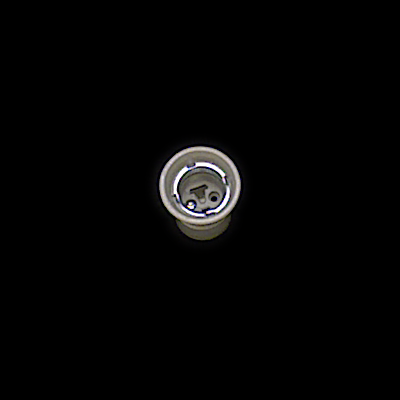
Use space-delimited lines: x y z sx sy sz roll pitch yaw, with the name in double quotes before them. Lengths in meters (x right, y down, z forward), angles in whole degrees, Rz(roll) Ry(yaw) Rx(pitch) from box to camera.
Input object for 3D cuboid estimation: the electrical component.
"electrical component" 0.000 0.000 0.624 0.044 0.044 0.065 0 -16 1
